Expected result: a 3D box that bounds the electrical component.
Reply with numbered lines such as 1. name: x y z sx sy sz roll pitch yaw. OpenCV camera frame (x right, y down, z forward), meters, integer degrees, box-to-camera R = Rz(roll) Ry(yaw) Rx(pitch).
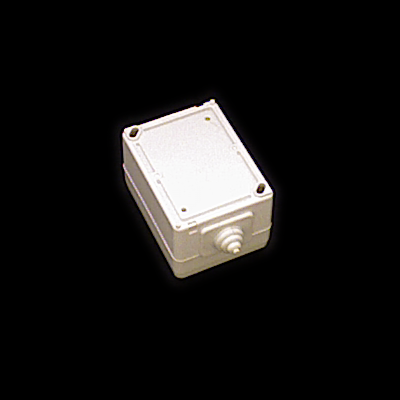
1. electrical component: 0.000 0.000 0.627 0.062 0.096 0.061 -20 -34 -15
